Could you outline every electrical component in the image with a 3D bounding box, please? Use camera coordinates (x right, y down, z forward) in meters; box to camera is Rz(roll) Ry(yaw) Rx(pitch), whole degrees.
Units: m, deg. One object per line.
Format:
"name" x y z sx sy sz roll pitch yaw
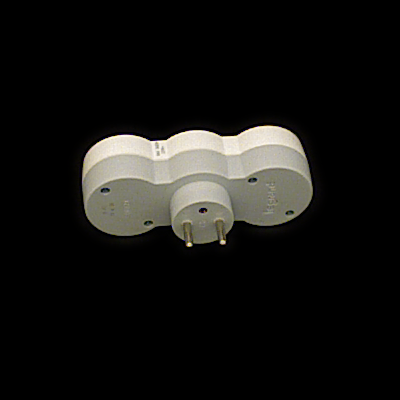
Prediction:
"electrical component" 0.000 0.000 0.638 0.138 0.052 0.073 -4 44 -6
